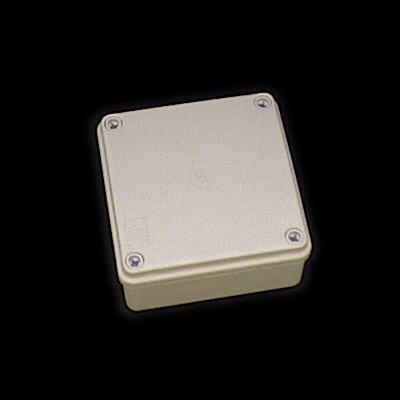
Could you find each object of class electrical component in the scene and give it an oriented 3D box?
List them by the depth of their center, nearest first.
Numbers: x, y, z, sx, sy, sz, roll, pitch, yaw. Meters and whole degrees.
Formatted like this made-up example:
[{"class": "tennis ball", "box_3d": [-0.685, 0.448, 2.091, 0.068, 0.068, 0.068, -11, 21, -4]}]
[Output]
[{"class": "electrical component", "box_3d": [0.000, 0.000, 0.630, 0.109, 0.108, 0.056, -8, -27, -5]}]
